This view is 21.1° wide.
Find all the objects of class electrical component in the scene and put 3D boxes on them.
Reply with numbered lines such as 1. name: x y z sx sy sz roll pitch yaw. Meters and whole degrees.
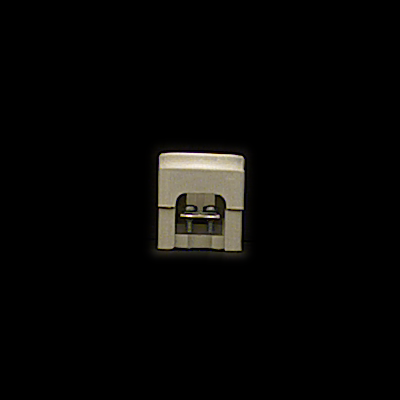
1. electrical component: 0.000 0.000 0.657 0.050 0.056 0.089 1 1 -1
